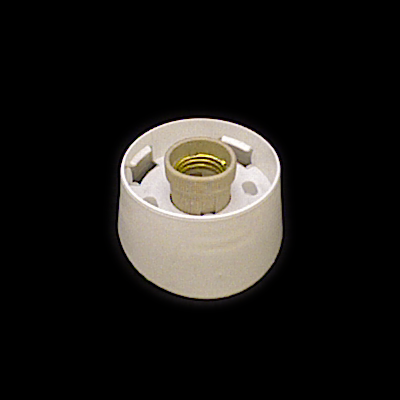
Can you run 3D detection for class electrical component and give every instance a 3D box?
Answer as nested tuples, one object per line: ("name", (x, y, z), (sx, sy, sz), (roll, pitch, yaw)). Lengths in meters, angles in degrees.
("electrical component", (0.000, 0.000, 0.630), (0.099, 0.065, 0.098), (1, 42, 0))
